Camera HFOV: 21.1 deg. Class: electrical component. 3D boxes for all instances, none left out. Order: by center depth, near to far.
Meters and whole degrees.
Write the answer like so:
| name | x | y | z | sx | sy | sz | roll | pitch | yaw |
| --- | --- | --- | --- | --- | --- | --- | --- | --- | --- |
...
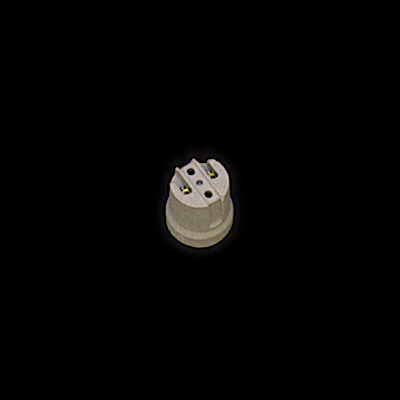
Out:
| name | x | y | z | sx | sy | sz | roll | pitch | yaw |
| --- | --- | --- | --- | --- | --- | --- | --- | --- | --- |
| electrical component | 0.000 | 0.000 | 0.634 | 0.040 | 0.040 | 0.046 | 0 | -27 | -1 |
